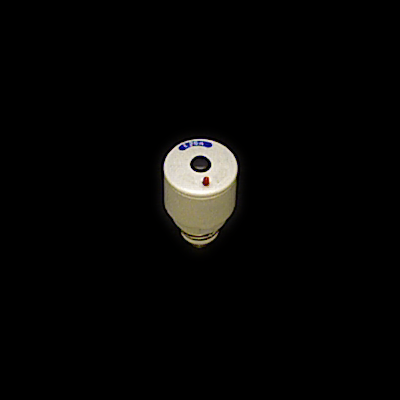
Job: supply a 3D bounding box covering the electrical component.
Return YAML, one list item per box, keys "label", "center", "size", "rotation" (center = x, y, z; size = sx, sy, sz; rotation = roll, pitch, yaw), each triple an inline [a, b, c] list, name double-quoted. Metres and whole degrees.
- label: "electrical component"
  center: [0.000, 0.000, 0.618]
  size: [0.040, 0.040, 0.078]
  rotation: [0, -37, -1]
